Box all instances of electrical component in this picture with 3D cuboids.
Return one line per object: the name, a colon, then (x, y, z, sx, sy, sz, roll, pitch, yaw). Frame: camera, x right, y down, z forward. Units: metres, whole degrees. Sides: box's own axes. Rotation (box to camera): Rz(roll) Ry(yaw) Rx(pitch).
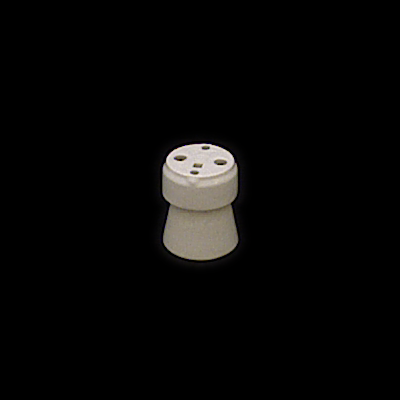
electrical component: (0.000, 0.000, 0.635, 0.045, 0.056, 0.044, 1, 31, 0)
